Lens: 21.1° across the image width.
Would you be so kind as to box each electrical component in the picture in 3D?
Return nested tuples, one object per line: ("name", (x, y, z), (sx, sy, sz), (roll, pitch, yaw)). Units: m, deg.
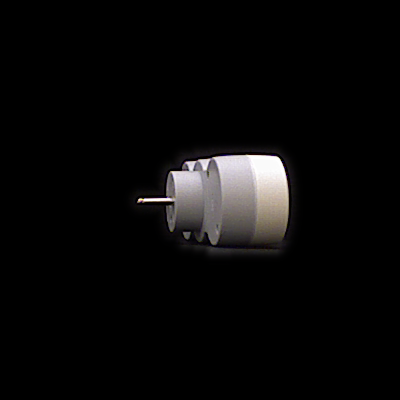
("electrical component", (0.000, 0.000, 0.647), (0.074, 0.052, 0.138), (-1, 1, -11))
